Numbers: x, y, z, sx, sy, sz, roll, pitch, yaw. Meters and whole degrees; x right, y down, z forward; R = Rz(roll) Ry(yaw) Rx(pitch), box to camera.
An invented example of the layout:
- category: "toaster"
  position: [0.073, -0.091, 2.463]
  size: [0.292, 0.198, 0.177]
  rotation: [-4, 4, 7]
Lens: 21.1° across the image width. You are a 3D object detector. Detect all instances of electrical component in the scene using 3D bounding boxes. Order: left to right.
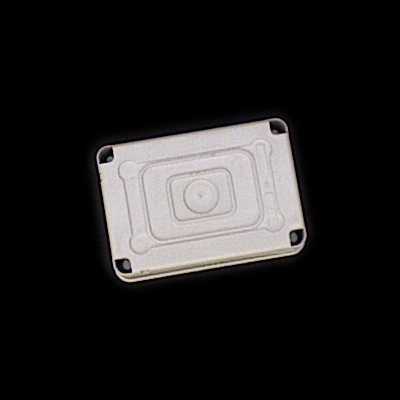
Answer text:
- category: "electrical component"
  position: [0.000, 0.000, 0.629]
  size: [0.113, 0.078, 0.057]
  rotation: [-9, -7, -1]
